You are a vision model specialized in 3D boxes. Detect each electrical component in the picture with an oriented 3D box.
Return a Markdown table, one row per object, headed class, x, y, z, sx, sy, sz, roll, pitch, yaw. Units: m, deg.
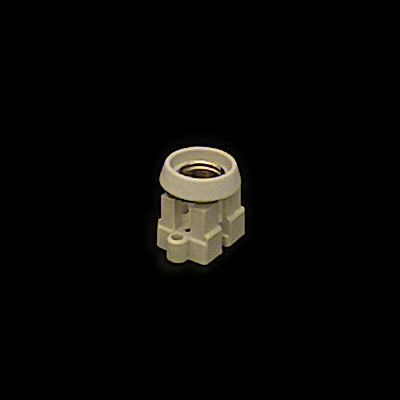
| class | x | y | z | sx | sy | sz | roll | pitch | yaw |
| --- | --- | --- | --- | --- | --- | --- | --- | --- | --- |
| electrical component | 0.000 | 0.000 | 0.644 | 0.048 | 0.056 | 0.066 | 22 | 38 | 26 |
